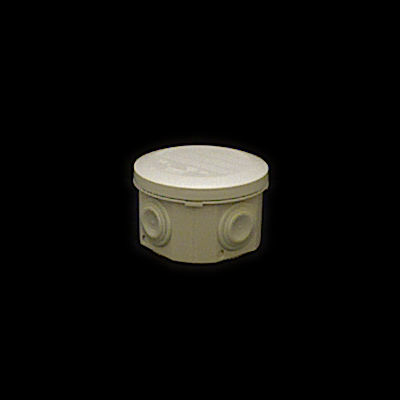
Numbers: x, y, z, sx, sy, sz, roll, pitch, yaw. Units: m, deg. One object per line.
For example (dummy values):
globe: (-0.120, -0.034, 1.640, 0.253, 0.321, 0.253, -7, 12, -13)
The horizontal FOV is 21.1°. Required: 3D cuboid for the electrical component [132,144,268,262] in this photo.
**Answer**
electrical component: (0.000, 0.000, 0.641, 0.080, 0.051, 0.079, 1, 21, 0)
